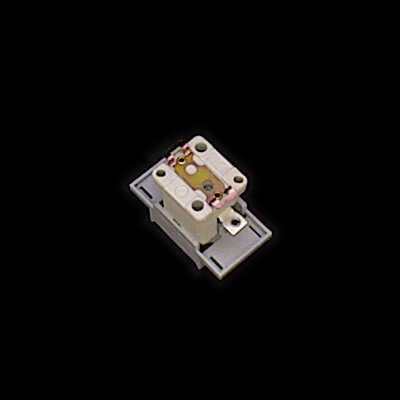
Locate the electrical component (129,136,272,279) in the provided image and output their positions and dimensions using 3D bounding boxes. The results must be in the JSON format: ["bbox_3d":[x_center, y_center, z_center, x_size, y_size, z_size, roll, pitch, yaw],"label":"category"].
[{"bbox_3d":[0.000,0.000,0.625,0.042,0.081,0.063,-40,-20,-18],"label":"electrical component"}]
